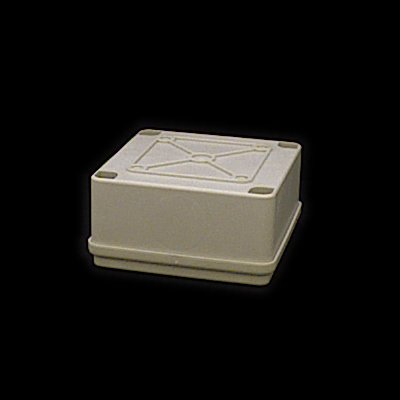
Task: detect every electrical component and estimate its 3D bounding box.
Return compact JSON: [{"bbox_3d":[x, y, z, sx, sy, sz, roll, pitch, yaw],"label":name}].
[{"bbox_3d":[0.000,0.000,0.642,0.108,0.057,0.107,6,21,12],"label":"electrical component"}]
